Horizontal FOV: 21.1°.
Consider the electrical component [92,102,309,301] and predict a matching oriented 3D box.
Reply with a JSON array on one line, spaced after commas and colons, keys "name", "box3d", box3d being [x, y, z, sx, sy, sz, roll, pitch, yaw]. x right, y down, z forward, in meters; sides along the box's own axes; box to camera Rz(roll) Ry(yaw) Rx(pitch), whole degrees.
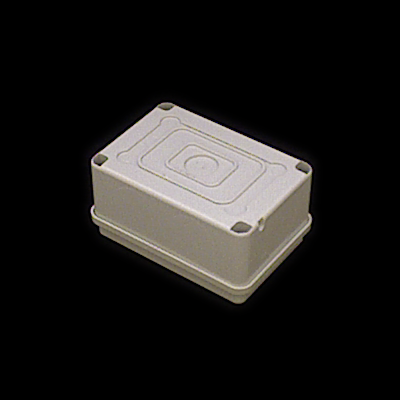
[{"name": "electrical component", "box3d": [0.000, 0.000, 0.632, 0.112, 0.057, 0.078, 26, 48, 26]}]
